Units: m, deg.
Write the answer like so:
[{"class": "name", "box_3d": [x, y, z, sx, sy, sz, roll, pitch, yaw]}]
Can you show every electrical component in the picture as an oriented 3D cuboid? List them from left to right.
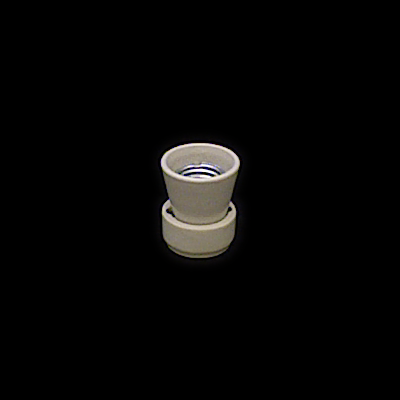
[{"class": "electrical component", "box_3d": [0.000, 0.000, 0.634, 0.045, 0.056, 0.044, 1, 32, 0]}]
